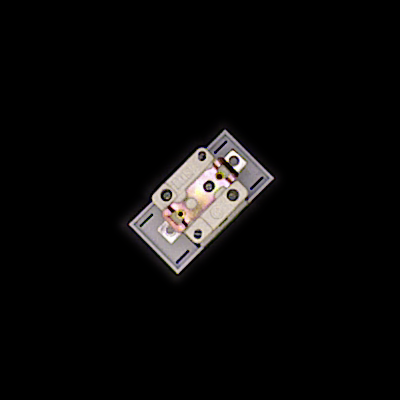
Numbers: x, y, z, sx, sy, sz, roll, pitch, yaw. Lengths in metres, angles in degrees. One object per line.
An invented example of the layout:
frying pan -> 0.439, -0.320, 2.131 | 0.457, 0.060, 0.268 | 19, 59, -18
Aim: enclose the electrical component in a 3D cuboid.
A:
electrical component -> 0.000, 0.000, 0.626 | 0.042, 0.081, 0.063 | 44, -5, 5
